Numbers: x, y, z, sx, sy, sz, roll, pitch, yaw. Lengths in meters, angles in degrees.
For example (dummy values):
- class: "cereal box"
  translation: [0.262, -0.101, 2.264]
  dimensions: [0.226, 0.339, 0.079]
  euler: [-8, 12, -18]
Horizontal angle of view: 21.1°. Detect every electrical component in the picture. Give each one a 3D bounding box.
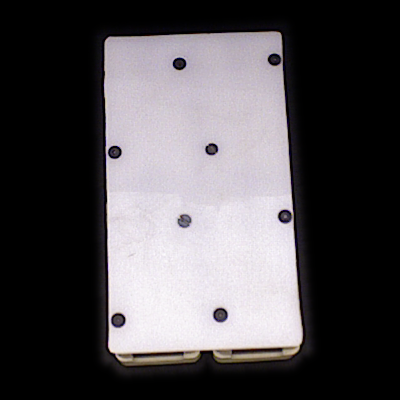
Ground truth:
- class: "electrical component"
  translation: [0.000, 0.000, 0.625]
  dimensions: [0.105, 0.187, 0.060]
  euler: [-2, -17, -1]
